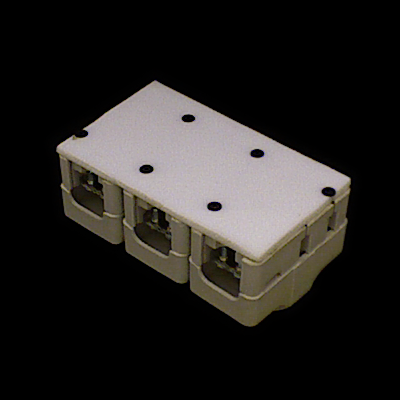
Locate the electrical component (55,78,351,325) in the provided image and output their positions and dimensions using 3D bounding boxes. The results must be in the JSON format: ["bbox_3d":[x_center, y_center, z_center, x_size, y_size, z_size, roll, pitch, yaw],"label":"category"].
[{"bbox_3d":[0.000,0.000,0.636,0.149,0.063,0.088,30,50,28],"label":"electrical component"}]
